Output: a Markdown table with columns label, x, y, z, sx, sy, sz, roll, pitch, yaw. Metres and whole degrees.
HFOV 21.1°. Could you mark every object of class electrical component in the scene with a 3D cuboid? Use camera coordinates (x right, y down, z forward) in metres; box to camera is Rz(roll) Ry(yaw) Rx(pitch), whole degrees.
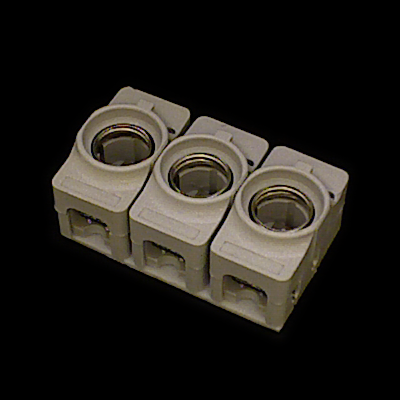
| label | x | y | z | sx | sy | sz | roll | pitch | yaw |
| --- | --- | --- | --- | --- | --- | --- | --- | --- | --- |
| electrical component | 0.000 | 0.000 | 0.635 | 0.149 | 0.088 | 0.062 | 23 | -35 | 15 |
